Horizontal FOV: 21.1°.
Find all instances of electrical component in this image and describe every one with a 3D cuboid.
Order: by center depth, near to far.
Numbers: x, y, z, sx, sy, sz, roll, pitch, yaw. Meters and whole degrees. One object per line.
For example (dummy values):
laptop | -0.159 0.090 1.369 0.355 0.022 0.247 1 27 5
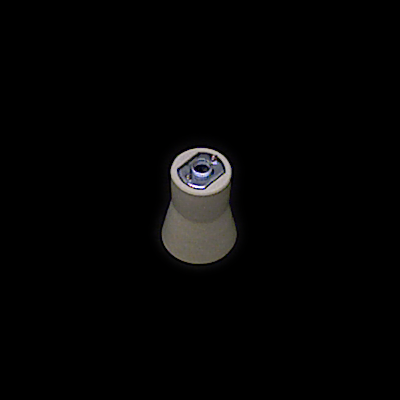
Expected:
electrical component | 0.000 0.000 0.625 0.044 0.044 0.065 0 -37 -2
